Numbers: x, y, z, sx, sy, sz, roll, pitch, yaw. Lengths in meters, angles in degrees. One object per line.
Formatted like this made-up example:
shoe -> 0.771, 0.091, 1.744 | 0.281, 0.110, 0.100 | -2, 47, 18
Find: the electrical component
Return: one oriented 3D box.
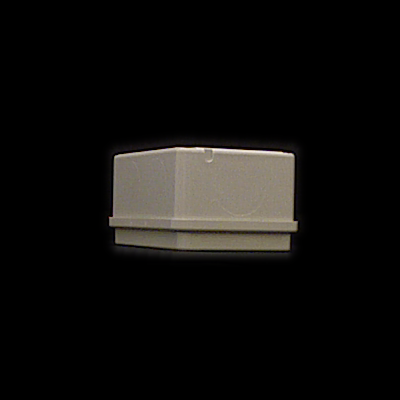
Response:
electrical component -> 0.000, 0.000, 0.649 | 0.078, 0.057, 0.113 | 1, 0, -25
